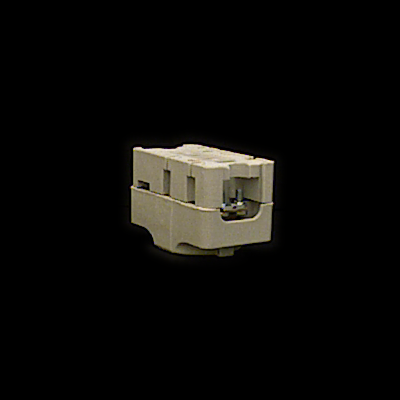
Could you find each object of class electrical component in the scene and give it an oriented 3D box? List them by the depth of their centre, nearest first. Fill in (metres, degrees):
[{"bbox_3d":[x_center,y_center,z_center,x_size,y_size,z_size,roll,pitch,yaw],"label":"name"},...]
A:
[{"bbox_3d":[0.000,0.000,0.652,0.050,0.056,0.088,-6,14,-33],"label":"electrical component"}]
